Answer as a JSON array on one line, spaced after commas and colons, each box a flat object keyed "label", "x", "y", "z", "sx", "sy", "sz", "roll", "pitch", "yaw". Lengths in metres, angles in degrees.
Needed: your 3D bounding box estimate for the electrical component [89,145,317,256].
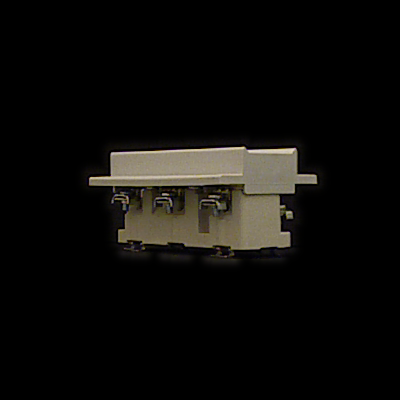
[{"label": "electrical component", "x": 0.000, "y": 0.000, "z": 0.660, "sx": 0.079, "sy": 0.063, "sz": 0.121, "roll": -2, "pitch": 2, "yaw": -42}]
